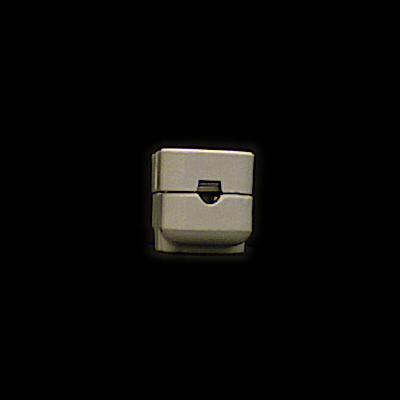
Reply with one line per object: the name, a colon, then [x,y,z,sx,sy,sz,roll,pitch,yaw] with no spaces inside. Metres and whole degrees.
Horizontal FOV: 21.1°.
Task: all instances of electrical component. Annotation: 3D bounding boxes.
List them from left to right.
electrical component: [0.000,0.000,0.655,0.054,0.059,0.095,1,1,-8]
